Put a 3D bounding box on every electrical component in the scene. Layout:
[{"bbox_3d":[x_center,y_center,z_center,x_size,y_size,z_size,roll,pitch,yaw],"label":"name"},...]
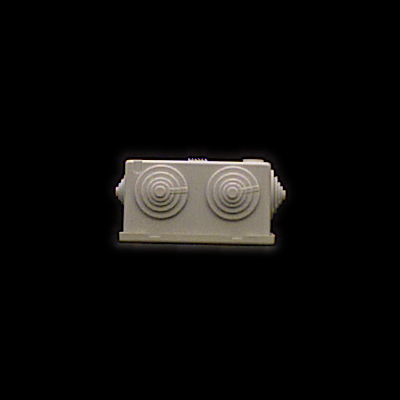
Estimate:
[{"bbox_3d":[0.000,0.000,0.649,0.100,0.048,0.099,1,0,2],"label":"electrical component"}]
